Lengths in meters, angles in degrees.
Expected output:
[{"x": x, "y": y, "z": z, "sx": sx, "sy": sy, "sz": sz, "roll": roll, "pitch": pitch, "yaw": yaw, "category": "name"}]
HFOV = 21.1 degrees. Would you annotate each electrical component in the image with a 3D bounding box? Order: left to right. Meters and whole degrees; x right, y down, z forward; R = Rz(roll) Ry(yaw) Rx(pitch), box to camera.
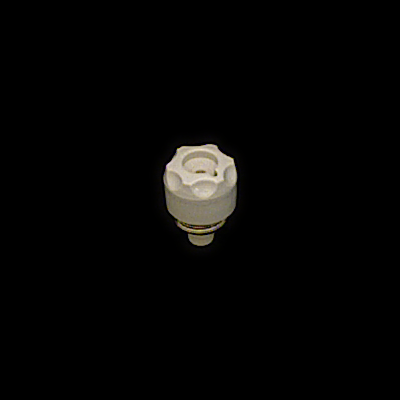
[{"x": 0.000, "y": 0.000, "z": 0.638, "sx": 0.043, "sy": 0.062, "sz": 0.043, "roll": 0, "pitch": 42, "yaw": 1, "category": "electrical component"}]
